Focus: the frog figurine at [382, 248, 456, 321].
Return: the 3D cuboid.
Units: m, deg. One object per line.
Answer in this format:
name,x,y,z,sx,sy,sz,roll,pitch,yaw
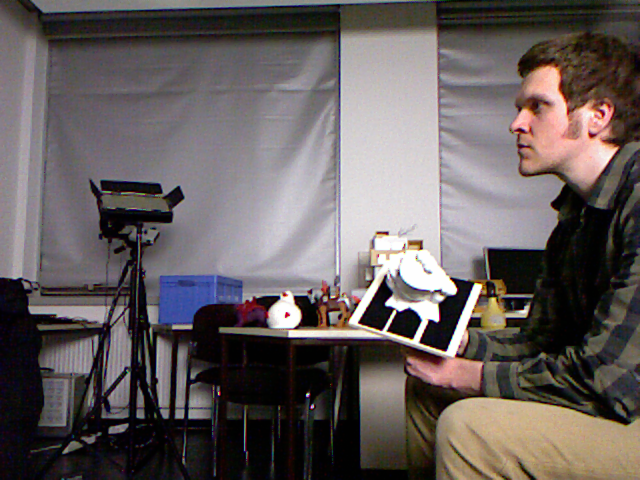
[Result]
frog figurine,0.186,0.063,0.969,0.139,0.156,0.125,29,48,32
